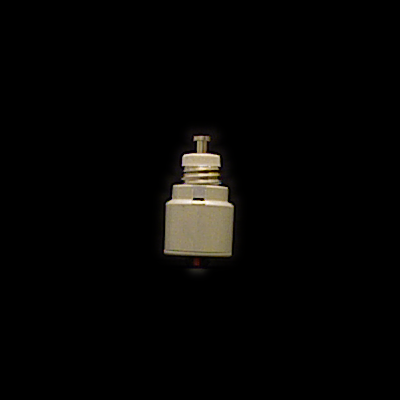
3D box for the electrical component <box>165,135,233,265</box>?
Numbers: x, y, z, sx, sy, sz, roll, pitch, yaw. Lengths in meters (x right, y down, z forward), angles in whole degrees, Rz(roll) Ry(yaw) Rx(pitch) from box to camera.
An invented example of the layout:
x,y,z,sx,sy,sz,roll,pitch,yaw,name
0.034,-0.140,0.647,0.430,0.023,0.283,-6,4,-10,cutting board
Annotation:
x,y,z,sx,sy,sz,roll,pitch,yaw,name
0.000,0.000,0.649,0.040,0.078,0.040,2,1,0,electrical component
